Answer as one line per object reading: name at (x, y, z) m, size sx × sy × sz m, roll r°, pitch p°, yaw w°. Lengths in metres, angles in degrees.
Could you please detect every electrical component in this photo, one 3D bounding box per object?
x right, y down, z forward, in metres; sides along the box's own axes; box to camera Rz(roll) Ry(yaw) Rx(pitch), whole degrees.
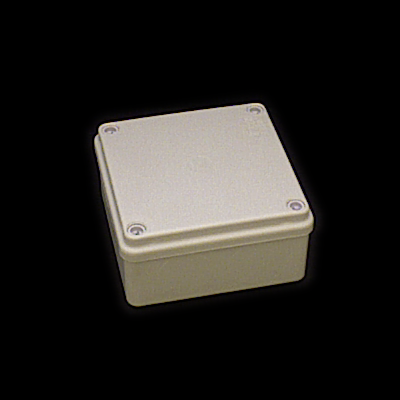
electrical component at (0.000, 0.000, 0.631) m, size 0.109 × 0.056 × 0.107 m, roll -9°, pitch 43°, yaw -10°
